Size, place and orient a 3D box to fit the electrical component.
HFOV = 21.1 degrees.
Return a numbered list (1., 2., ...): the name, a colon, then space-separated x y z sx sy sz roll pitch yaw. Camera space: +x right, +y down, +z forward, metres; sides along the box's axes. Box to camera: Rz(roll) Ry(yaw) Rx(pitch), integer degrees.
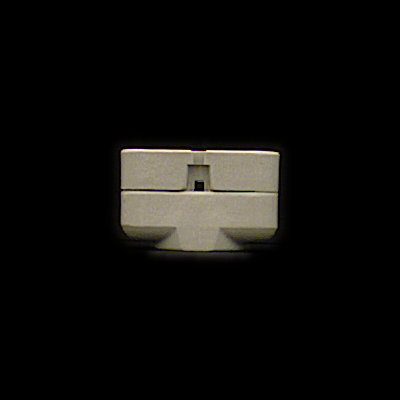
1. electrical component: 0.000 0.000 0.659 0.095 0.059 0.053 1 1 2
